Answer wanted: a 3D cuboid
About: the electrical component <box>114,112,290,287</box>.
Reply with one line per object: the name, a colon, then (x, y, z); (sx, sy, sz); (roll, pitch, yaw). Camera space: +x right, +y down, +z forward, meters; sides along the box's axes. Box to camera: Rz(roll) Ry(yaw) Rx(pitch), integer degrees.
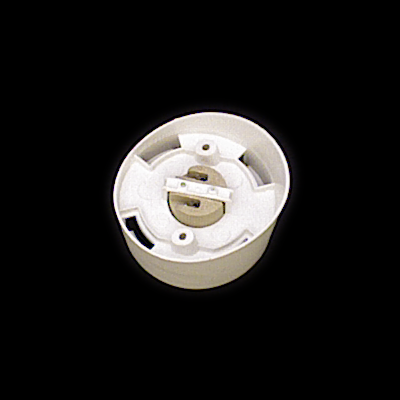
electrical component: (0.000, 0.000, 0.625); (0.099, 0.099, 0.064); (0, -28, -1)
